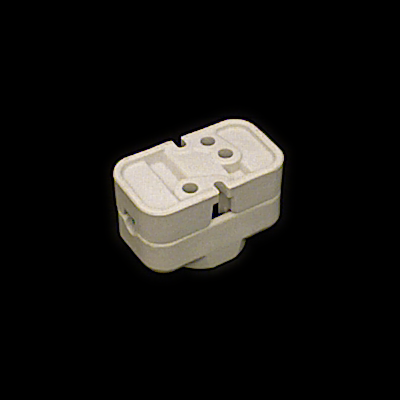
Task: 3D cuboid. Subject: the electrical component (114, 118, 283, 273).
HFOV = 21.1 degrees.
[{"bbox_3d":[0.000,0.000,0.639,0.096,0.060,0.053,-23,48,-23],"label":"electrical component"}]
